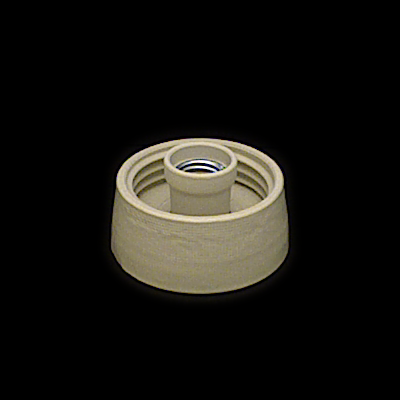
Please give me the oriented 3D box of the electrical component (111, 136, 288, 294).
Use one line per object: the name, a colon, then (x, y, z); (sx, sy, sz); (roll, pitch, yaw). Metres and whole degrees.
electrical component: (0.000, 0.000, 0.640); (0.108, 0.061, 0.106); (1, 32, 0)
